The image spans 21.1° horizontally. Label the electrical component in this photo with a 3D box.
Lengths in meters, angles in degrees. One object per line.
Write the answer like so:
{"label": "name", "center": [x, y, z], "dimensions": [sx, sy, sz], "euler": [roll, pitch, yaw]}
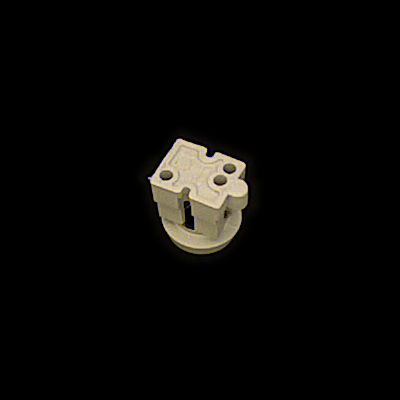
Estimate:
{"label": "electrical component", "center": [0.000, 0.000, 0.639], "dimensions": [0.066, 0.048, 0.056], "euler": [22, -33, 16]}
